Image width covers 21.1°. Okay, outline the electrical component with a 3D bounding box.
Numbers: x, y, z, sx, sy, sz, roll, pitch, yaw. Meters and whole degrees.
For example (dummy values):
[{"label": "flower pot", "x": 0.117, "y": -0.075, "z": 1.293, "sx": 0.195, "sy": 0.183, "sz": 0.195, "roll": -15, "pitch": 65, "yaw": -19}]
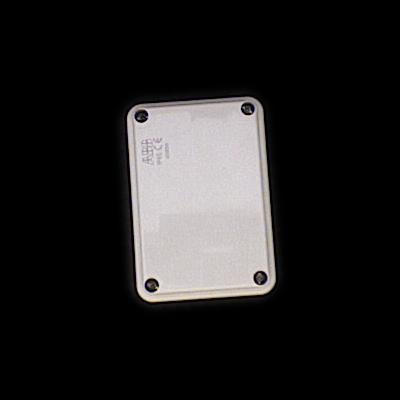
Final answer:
[{"label": "electrical component", "x": 0.000, "y": 0.000, "z": 0.628, "sx": 0.078, "sy": 0.113, "sz": 0.057, "roll": -4, "pitch": -7, "yaw": 0}]
